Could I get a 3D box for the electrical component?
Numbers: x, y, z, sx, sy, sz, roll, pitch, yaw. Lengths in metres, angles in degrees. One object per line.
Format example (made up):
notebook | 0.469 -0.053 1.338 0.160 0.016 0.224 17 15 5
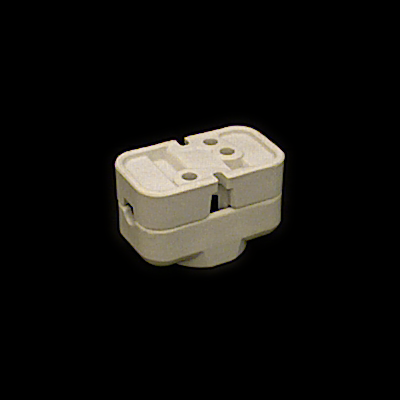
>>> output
electrical component | 0.000 0.000 0.642 0.096 0.060 0.052 -16 36 -25
